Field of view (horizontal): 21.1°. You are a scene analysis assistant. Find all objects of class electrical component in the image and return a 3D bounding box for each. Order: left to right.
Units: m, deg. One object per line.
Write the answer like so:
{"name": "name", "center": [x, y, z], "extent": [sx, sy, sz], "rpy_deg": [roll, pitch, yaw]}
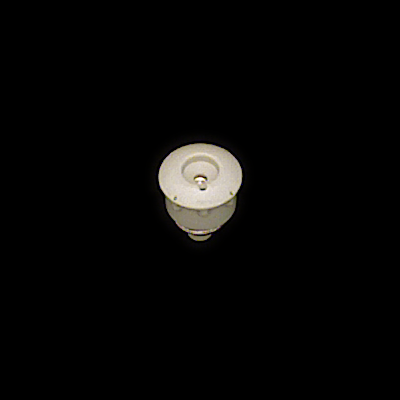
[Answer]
{"name": "electrical component", "center": [0.000, 0.000, 0.635], "extent": [0.048, 0.048, 0.062], "rpy_deg": [0, -37, 0]}
